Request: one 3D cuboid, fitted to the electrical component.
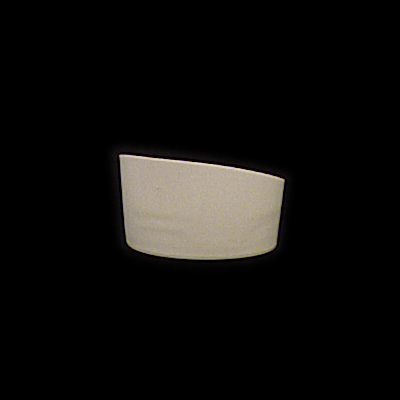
[{"bbox_3d":[0.000,0.000,0.642,0.099,0.064,0.098,1,11,0],"label":"electrical component"}]
